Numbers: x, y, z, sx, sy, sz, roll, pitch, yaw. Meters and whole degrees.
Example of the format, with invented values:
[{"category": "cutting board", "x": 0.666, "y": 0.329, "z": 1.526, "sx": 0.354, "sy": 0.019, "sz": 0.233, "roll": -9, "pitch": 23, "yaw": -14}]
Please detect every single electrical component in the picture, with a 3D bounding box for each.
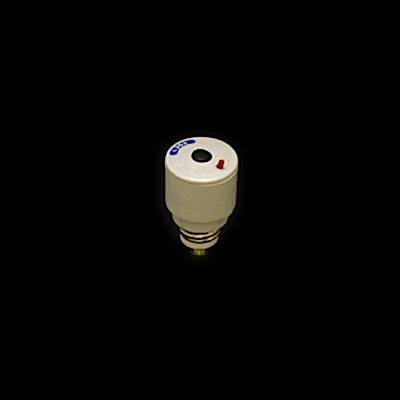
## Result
[{"category": "electrical component", "x": 0.000, "y": 0.000, "z": 0.622, "sx": 0.040, "sy": 0.079, "sz": 0.039, "roll": 1, "pitch": 42, "yaw": -1}]
